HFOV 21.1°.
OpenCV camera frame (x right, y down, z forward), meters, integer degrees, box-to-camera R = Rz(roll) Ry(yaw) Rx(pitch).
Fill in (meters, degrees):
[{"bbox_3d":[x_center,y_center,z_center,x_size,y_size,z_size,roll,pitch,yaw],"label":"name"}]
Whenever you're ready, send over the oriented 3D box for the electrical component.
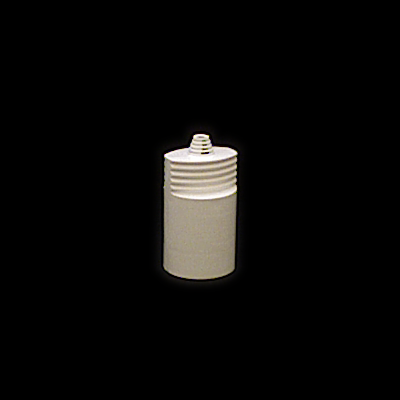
[{"bbox_3d":[0.000,0.000,0.635,0.043,0.082,0.042,1,21,0],"label":"electrical component"}]
